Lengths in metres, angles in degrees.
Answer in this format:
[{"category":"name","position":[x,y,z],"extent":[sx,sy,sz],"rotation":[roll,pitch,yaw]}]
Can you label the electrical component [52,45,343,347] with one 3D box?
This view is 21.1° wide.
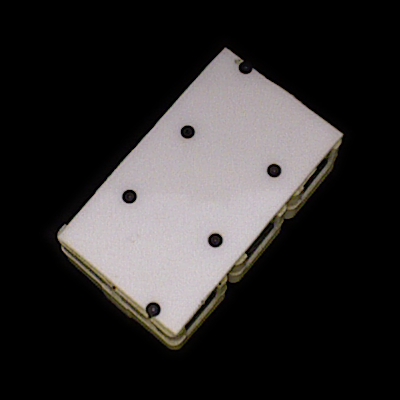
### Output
[{"category":"electrical component","position":[0.000,0.000,0.629],"extent":[0.089,0.150,0.061],"rotation":[39,-13,11]}]
